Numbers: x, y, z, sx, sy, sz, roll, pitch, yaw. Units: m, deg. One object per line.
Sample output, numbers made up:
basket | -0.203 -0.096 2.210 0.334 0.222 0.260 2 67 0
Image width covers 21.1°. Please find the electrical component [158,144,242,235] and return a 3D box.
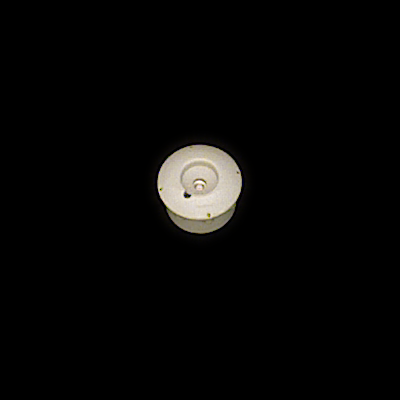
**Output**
electrical component | 0.000 0.000 0.633 0.048 0.048 0.062 0 -26 0
